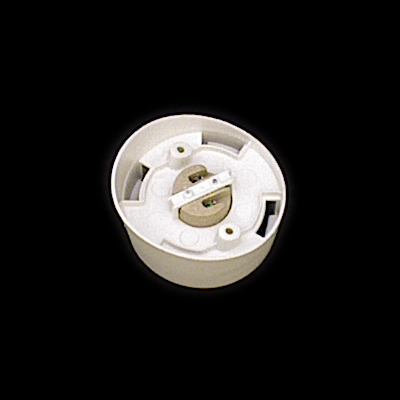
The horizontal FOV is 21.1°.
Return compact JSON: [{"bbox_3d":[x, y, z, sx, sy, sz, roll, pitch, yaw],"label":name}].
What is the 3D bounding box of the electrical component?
[{"bbox_3d":[0.000,0.000,0.623,0.099,0.099,0.064,0,-27,0],"label":"electrical component"}]
